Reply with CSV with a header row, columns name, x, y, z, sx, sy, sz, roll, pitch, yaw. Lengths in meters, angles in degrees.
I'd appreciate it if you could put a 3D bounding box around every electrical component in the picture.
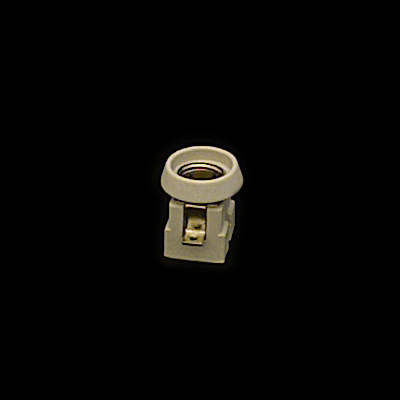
name,x,y,z,sx,sy,sz,roll,pitch,yaw
electrical component,0.000,0.000,0.642,0.048,0.056,0.066,3,32,8
